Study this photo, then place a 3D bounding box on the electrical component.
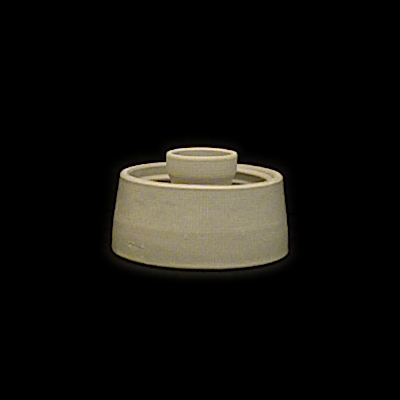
[{"bbox_3d":[0.000,0.000,0.652,0.108,0.061,0.107,1,11,0],"label":"electrical component"}]
